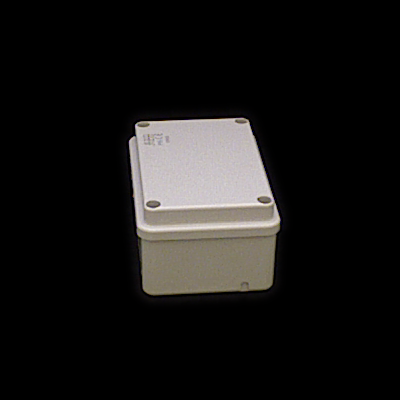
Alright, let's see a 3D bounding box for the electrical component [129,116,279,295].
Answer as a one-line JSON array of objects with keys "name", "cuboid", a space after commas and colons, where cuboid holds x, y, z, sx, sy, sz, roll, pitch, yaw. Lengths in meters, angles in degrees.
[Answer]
[{"name": "electrical component", "cuboid": [0.000, 0.000, 0.634, 0.078, 0.058, 0.111, -2, 32, -6]}]
